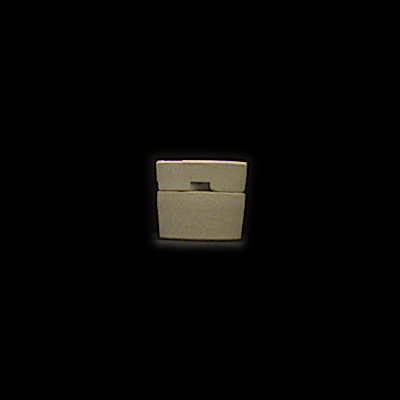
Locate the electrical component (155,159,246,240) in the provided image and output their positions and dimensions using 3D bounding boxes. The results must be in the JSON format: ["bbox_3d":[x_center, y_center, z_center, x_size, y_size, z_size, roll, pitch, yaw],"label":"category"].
[{"bbox_3d":[0.000,0.000,0.649,0.055,0.047,0.055,1,0,0],"label":"electrical component"}]
